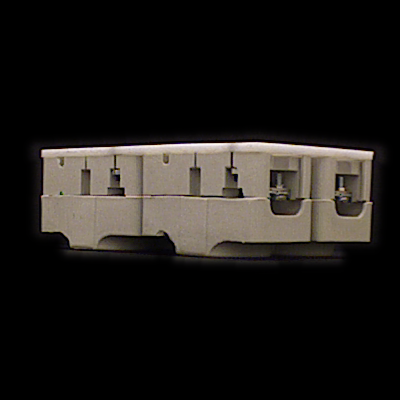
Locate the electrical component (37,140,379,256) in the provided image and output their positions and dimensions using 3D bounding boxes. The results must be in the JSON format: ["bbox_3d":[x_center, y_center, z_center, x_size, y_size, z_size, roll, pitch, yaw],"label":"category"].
[{"bbox_3d":[0.000,0.000,0.650,0.186,0.060,0.106,1,0,45],"label":"electrical component"}]
